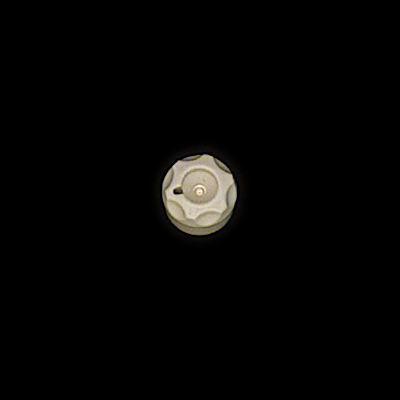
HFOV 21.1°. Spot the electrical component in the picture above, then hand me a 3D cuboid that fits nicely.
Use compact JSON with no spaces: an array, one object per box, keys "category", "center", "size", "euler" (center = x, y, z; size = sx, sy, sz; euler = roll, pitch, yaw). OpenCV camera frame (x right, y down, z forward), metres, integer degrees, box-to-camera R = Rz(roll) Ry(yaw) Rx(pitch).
[{"category":"electrical component","center":[0.000,0.000,0.634],"size":[0.043,0.043,0.061],"euler":[0,-16,0]}]
